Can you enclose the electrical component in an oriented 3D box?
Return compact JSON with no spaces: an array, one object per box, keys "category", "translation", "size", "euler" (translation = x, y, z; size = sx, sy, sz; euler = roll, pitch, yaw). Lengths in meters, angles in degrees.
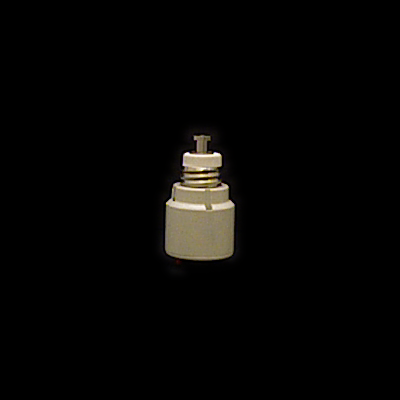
[{"category":"electrical component","translation":[0.000,0.000,0.644],"size":[0.040,0.079,0.040],"euler":[2,12,0]}]
